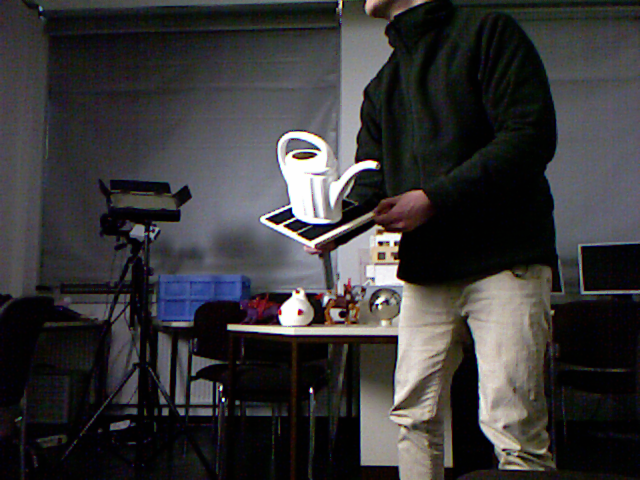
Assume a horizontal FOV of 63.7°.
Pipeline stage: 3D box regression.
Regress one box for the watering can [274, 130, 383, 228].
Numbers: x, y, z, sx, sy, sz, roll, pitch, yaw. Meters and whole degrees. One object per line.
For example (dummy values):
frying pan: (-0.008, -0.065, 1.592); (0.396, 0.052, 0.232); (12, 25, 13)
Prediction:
watering can: (0.010, -0.123, 1.137); (0.105, 0.220, 0.351); (-28, 36, -30)
